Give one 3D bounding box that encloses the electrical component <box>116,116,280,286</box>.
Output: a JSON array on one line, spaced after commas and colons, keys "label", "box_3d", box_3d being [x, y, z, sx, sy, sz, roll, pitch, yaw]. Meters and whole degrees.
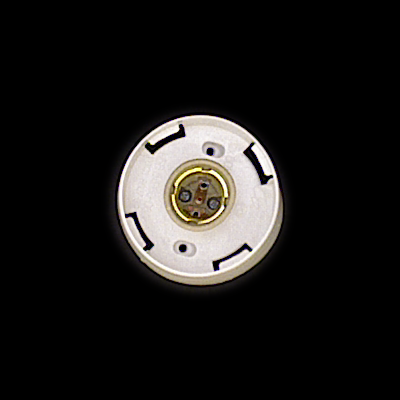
[{"label": "electrical component", "box_3d": [0.000, 0.000, 0.625, 0.099, 0.099, 0.064, 0, -7, 0]}]
